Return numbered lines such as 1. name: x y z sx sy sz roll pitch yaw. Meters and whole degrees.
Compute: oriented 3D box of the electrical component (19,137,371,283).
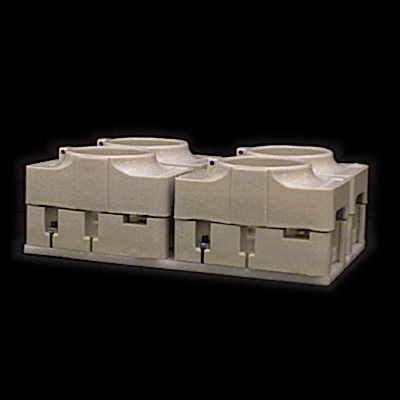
1. electrical component: 0.000 0.000 0.643 0.186 0.060 0.105 4 11 19
